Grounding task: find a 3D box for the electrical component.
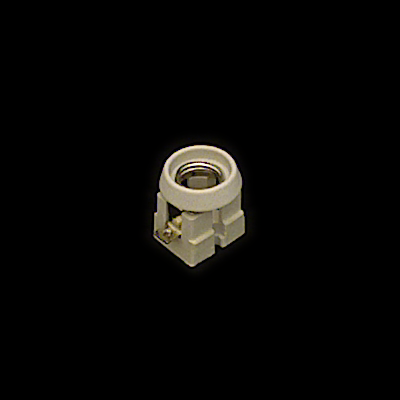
[{"bbox_3d":[0.000,0.000,0.639,0.067,0.056,0.048,-33,50,-31],"label":"electrical component"}]
